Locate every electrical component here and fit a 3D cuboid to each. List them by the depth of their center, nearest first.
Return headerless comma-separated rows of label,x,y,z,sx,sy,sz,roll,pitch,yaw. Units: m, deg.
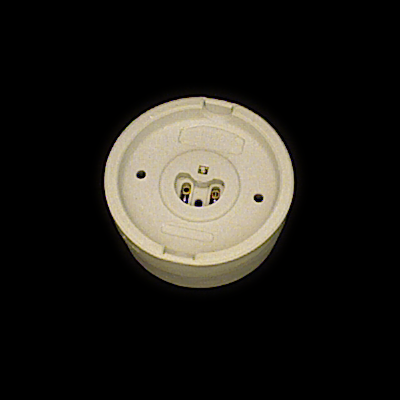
electrical component,0.000,0.000,0.635,0.108,0.108,0.060,0,-26,0
